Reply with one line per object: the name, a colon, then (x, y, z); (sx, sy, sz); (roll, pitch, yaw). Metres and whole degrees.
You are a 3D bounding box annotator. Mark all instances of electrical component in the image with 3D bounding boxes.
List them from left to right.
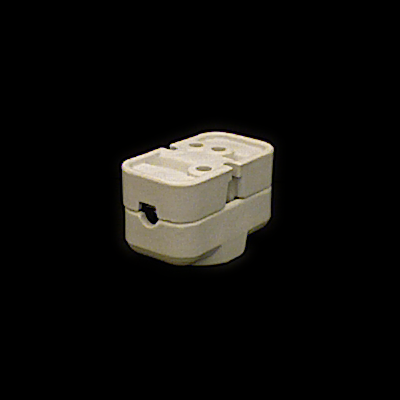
electrical component: (0.000, 0.000, 0.646); (0.053, 0.060, 0.095); (17, 27, 35)
